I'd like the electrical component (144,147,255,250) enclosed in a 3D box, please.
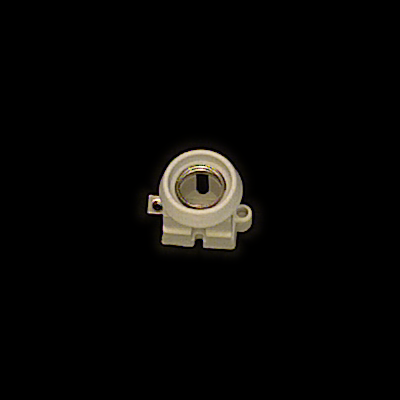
[{"bbox_3d":[0.000,0.000,0.637,0.066,0.048,0.055,3,-28,2],"label":"electrical component"}]
